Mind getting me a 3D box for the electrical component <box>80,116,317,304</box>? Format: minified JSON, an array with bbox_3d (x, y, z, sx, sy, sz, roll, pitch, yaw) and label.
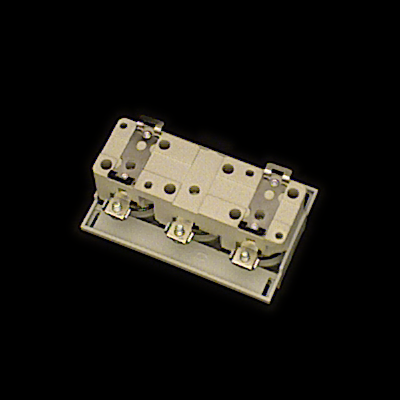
[{"bbox_3d":[0.000,0.000,0.635,0.121,0.079,0.063,21,-26,10],"label":"electrical component"}]
